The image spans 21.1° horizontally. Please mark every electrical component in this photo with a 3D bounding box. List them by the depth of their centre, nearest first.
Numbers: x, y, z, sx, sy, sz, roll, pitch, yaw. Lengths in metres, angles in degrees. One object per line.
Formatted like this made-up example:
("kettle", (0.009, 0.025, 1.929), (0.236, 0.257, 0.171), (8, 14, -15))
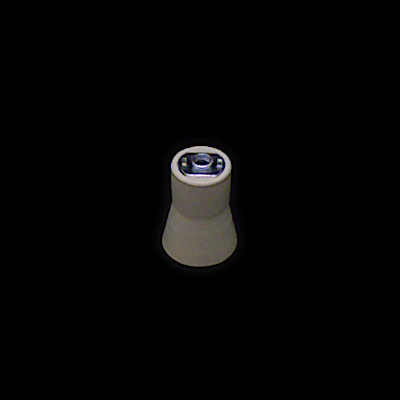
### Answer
("electrical component", (0.000, 0.000, 0.628), (0.044, 0.066, 0.044), (1, 43, 0))
